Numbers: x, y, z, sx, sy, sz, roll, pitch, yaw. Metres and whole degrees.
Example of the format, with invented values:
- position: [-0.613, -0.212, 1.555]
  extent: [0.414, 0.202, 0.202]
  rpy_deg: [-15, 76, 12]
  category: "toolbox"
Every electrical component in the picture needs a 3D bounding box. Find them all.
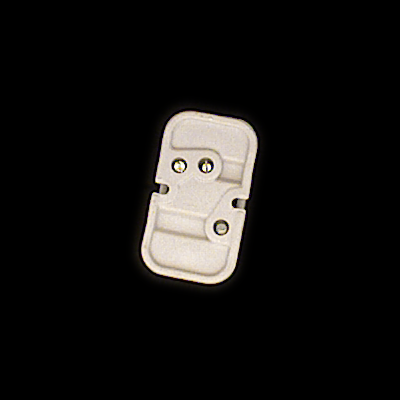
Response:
- position: [0.000, 0.000, 0.636]
  extent: [0.054, 0.095, 0.059]
  rpy_deg: [10, -5, 2]
  category: "electrical component"
